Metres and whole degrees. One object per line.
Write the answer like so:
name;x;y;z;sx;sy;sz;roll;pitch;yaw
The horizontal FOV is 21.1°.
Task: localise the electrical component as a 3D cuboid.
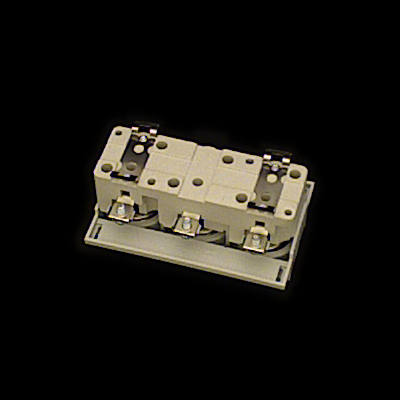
electrical component;0.000;0.000;0.637;0.121;0.078;0.063;13;-37;9
